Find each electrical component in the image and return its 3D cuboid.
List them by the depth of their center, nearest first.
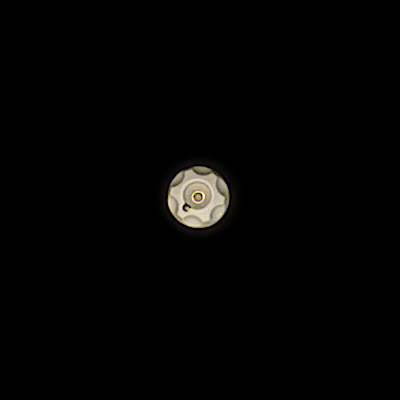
[{"bbox_3d":[0.000,0.000,0.634,0.035,0.035,0.061,0,-5,1],"label":"electrical component"}]
